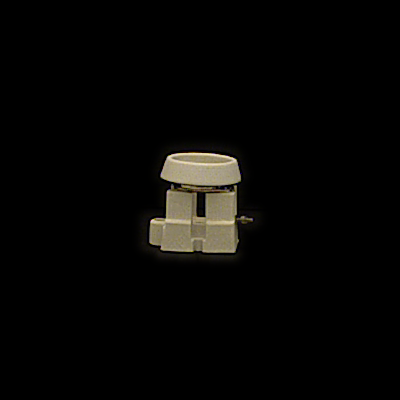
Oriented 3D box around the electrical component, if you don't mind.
[{"bbox_3d":[0.000,0.000,0.652,0.066,0.056,0.048,2,14,2],"label":"electrical component"}]
